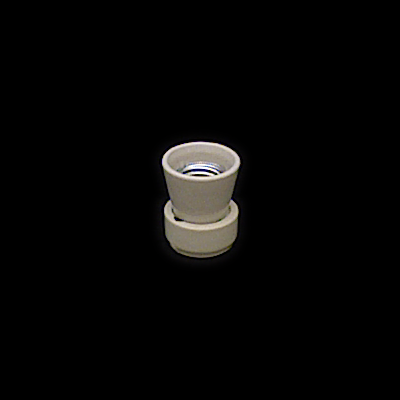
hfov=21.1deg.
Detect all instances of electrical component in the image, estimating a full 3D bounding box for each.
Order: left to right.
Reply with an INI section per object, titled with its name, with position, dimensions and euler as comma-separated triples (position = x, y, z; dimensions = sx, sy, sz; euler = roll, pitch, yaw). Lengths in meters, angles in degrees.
[electrical component]
position = 0.000, 0.000, 0.635
dimensions = 0.045, 0.056, 0.044
euler = 1, 31, 0
